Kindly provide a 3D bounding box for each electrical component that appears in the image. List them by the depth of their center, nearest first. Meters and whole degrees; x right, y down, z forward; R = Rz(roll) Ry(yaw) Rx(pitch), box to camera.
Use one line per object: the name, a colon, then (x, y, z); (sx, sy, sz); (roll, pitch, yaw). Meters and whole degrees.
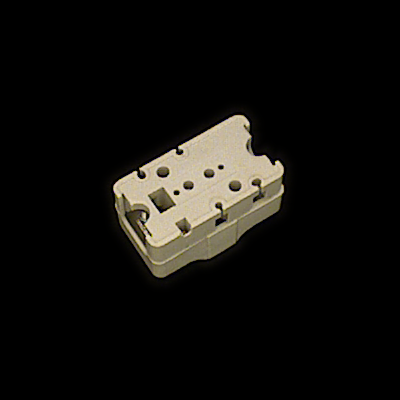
electrical component: (0.000, 0.000, 0.636); (0.090, 0.050, 0.055); (-30, -22, -14)
